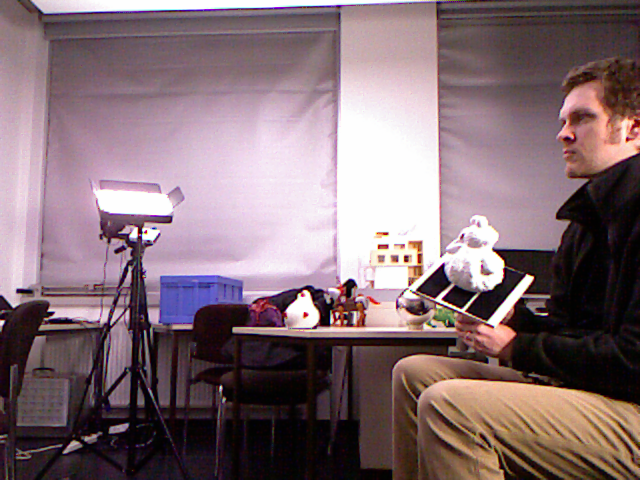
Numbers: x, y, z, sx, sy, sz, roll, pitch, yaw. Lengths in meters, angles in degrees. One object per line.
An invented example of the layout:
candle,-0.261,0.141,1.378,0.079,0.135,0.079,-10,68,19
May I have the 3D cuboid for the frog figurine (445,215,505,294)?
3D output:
frog figurine,0.345,0.034,1.137,0.124,0.156,0.140,-22,41,-22
